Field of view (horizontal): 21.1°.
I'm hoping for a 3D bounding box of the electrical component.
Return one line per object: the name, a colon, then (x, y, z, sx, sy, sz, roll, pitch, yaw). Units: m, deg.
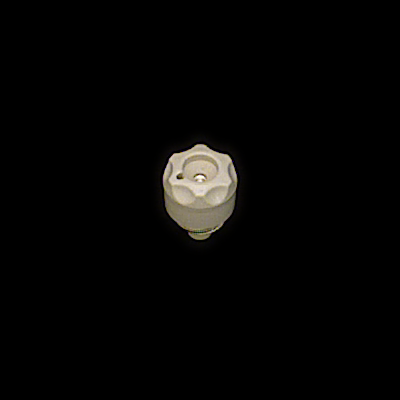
electrical component: (0.000, 0.000, 0.636, 0.043, 0.043, 0.062, 0, -38, -1)
